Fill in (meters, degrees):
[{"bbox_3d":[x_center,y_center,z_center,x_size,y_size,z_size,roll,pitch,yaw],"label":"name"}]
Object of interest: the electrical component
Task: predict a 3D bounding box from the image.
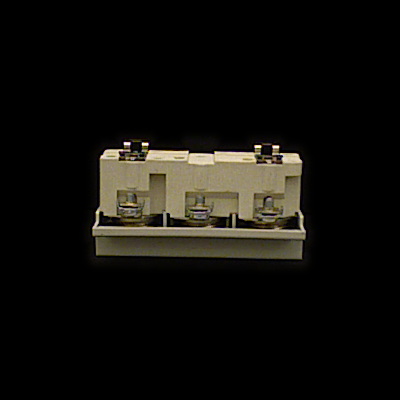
[{"bbox_3d":[0.000,0.000,0.648,0.121,0.063,0.078,1,12,0],"label":"electrical component"}]
